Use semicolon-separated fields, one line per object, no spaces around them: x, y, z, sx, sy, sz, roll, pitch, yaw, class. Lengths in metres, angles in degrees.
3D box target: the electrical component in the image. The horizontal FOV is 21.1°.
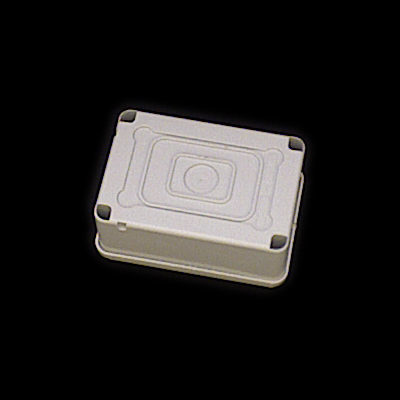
0.000;0.000;0.628;0.113;0.078;0.057;10;-27;4;electrical component
